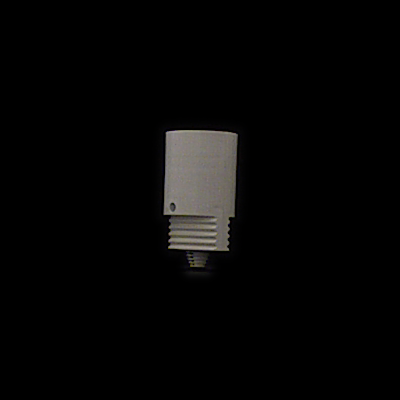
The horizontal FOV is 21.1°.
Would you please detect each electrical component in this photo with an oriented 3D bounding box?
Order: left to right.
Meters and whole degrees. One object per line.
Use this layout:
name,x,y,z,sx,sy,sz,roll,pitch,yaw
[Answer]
electrical component,0.000,0.000,0.650,0.043,0.081,0.043,1,2,0
